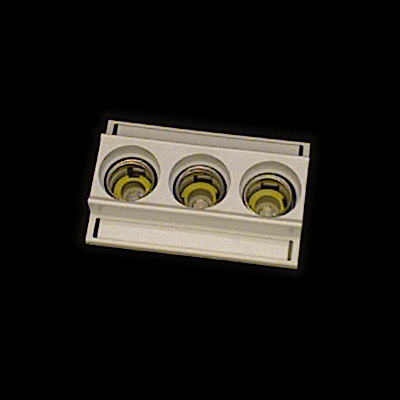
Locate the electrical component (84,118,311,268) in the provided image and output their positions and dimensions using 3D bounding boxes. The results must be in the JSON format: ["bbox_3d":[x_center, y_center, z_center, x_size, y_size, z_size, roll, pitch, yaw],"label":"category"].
[{"bbox_3d":[0.000,0.000,0.637,0.121,0.078,0.063,7,-25,4],"label":"electrical component"}]
